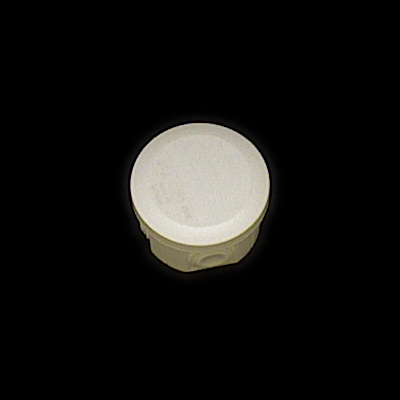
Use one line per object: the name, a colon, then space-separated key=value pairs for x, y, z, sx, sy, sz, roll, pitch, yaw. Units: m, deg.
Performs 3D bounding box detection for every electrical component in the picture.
electrical component: x=0.000 y=0.000 z=0.631 sx=0.080 sy=0.080 sz=0.050 roll=0 pitch=-28 yaw=0
